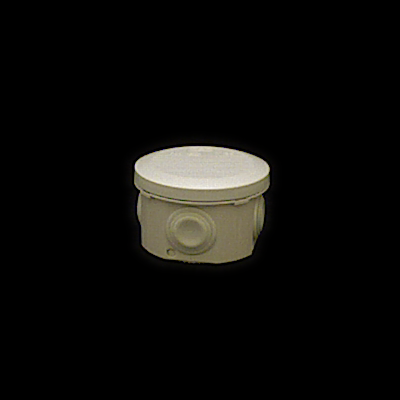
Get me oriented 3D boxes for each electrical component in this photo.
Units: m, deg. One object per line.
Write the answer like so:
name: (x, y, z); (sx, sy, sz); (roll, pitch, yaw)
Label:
electrical component: (0.000, 0.000, 0.641); (0.080, 0.051, 0.079); (1, 21, 0)
